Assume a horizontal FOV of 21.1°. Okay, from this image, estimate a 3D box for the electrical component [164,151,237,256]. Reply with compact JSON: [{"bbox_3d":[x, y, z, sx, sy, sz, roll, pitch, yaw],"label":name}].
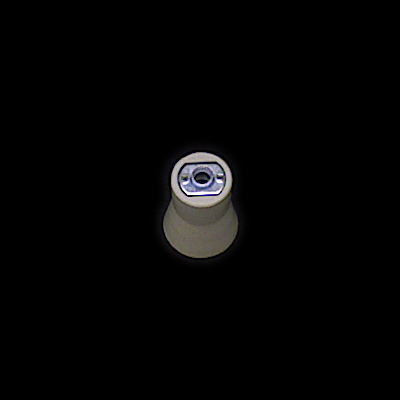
[{"bbox_3d":[0.000,0.000,0.624,0.044,0.044,0.065,0,-26,0],"label":"electrical component"}]
